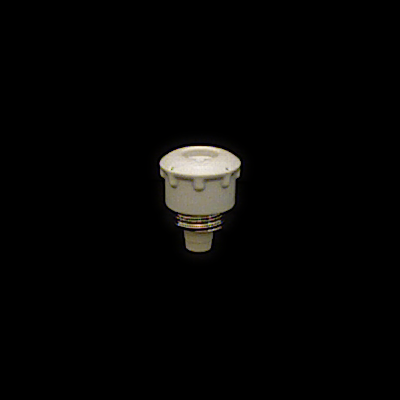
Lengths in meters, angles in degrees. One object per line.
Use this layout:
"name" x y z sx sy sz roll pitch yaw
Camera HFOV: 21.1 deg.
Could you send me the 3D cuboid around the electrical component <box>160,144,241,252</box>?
"electrical component" 0.000 0.000 0.646 0.048 0.062 0.047 1 22 0
